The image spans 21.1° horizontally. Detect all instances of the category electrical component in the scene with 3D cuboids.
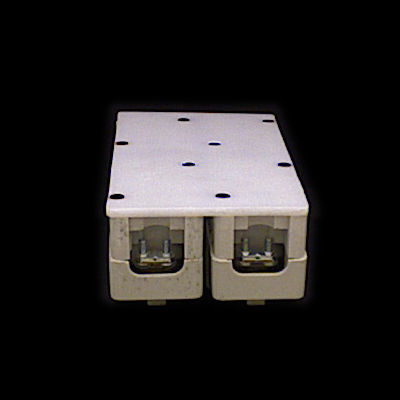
[{"bbox_3d":[0.000,0.000,0.638,0.105,0.061,0.183,0,20,-3],"label":"electrical component"}]
